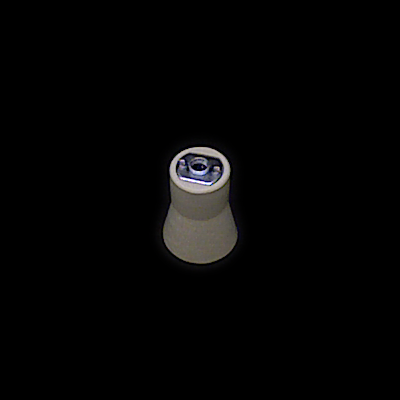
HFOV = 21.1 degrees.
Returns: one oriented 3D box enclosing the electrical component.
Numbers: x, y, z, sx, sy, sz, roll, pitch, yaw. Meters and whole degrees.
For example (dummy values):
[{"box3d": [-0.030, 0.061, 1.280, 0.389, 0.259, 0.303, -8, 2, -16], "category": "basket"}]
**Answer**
[{"box3d": [0.000, 0.000, 0.628, 0.044, 0.044, 0.065, 0, -39, 0], "category": "electrical component"}]
